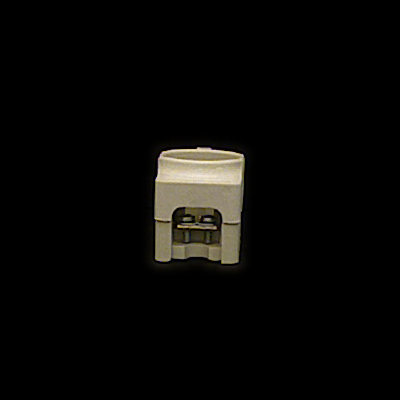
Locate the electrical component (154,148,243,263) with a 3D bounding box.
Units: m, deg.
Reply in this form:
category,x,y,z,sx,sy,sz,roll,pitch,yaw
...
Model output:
category,x,y,z,sx,sy,sz,roll,pitch,yaw
electrical component,0.000,0.000,0.652,0.050,0.056,0.089,2,11,2
